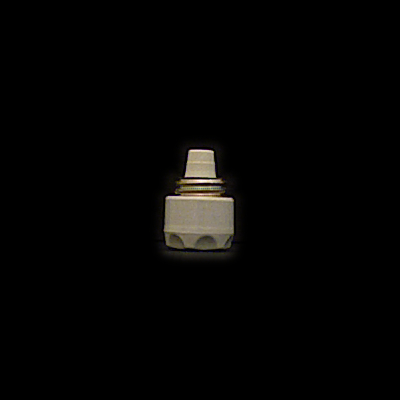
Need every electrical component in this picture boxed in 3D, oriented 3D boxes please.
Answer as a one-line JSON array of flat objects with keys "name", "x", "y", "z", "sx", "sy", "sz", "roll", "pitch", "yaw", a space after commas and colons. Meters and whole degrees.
[{"name": "electrical component", "x": 0.000, "y": 0.000, "z": 0.657, "sx": 0.043, "sy": 0.062, "sz": 0.043, "roll": 2, "pitch": 1, "yaw": 0}]
